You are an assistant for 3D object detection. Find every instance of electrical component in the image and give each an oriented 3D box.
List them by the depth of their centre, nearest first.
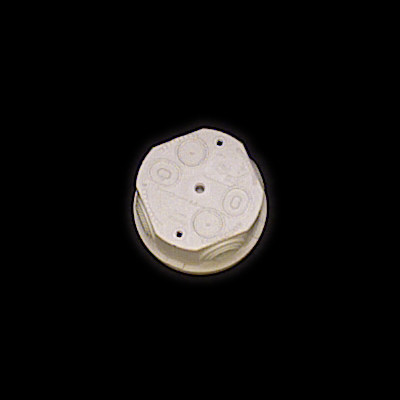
[{"bbox_3d":[0.000,0.000,0.632,0.080,0.080,0.050,0,-18,0],"label":"electrical component"}]
